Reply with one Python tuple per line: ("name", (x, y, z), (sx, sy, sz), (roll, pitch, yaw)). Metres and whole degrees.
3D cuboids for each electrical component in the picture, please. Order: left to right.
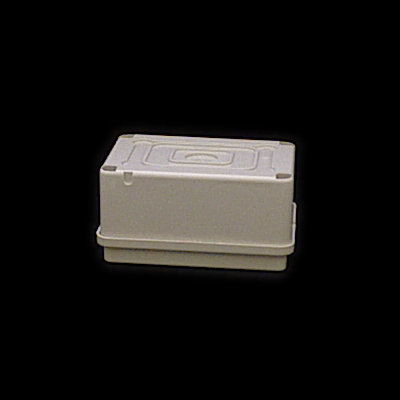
("electrical component", (0.000, 0.000, 0.639), (0.113, 0.058, 0.077), (3, 21, 5))
